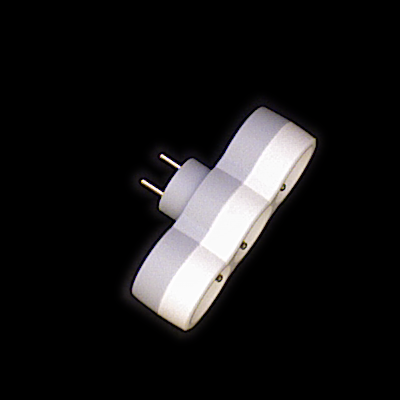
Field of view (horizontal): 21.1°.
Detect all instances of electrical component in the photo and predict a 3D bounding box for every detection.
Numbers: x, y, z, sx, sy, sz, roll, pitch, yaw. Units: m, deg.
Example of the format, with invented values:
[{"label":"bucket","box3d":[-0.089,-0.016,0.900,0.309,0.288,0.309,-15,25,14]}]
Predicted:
[{"label":"electrical component","box3d":[0.000,0.000,0.629,0.074,0.139,0.052,33,-13,12]}]
